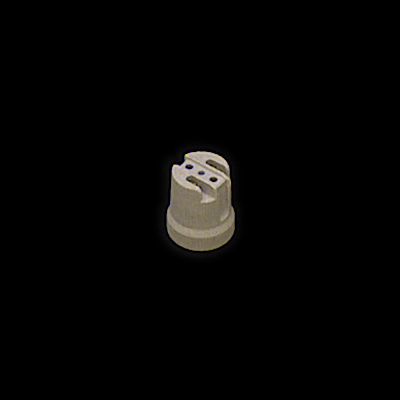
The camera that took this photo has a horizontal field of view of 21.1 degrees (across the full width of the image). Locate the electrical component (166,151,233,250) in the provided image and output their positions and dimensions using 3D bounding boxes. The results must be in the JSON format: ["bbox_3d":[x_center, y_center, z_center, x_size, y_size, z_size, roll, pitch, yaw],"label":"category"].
[{"bbox_3d":[0.000,0.000,0.634,0.040,0.046,0.040,0,42,0],"label":"electrical component"}]
